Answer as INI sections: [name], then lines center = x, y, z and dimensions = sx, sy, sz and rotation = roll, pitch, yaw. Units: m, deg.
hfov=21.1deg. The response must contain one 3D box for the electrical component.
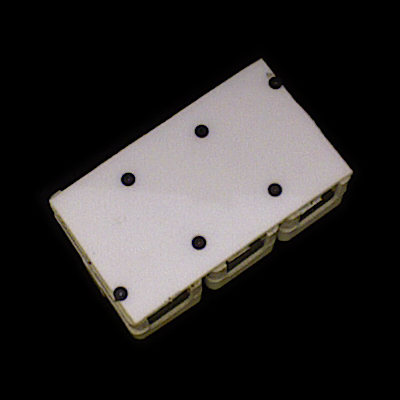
[electrical component]
center = 0.000, 0.000, 0.629
dimensions = 0.150, 0.089, 0.062
rotation = -34, -14, -9
